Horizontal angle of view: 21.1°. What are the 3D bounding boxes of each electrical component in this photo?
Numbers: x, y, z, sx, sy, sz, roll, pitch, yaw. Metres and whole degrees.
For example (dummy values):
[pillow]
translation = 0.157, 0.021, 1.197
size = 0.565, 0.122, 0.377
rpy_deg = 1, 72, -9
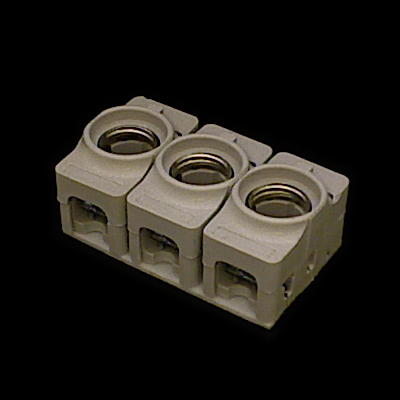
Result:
[electrical component]
translation = 0.000, 0.000, 0.638
size = 0.149, 0.063, 0.088
rpy_deg = 23, 46, 22
